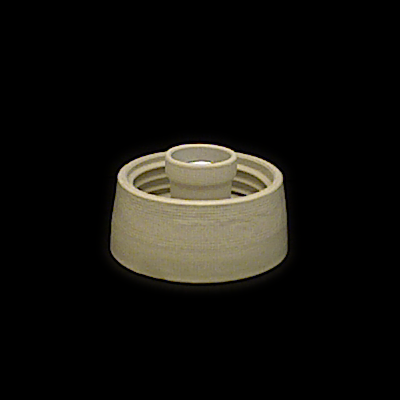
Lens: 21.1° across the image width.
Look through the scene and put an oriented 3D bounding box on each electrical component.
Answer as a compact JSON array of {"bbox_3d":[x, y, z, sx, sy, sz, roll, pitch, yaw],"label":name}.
[{"bbox_3d":[0.000,0.000,0.644,0.108,0.061,0.106,1,21,0],"label":"electrical component"}]
